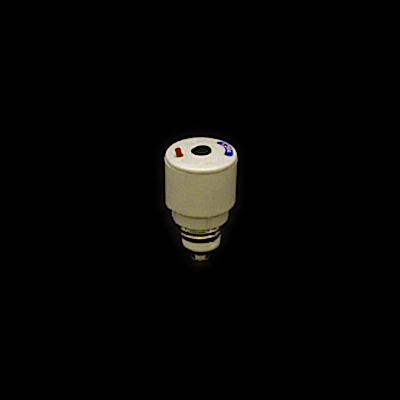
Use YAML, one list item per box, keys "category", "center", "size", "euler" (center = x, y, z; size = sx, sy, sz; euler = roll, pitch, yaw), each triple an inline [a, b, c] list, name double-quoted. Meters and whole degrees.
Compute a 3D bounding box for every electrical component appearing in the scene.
- category: "electrical component"
  center: [0.000, 0.000, 0.629]
  size: [0.040, 0.079, 0.039]
  euler: [0, 32, 0]
